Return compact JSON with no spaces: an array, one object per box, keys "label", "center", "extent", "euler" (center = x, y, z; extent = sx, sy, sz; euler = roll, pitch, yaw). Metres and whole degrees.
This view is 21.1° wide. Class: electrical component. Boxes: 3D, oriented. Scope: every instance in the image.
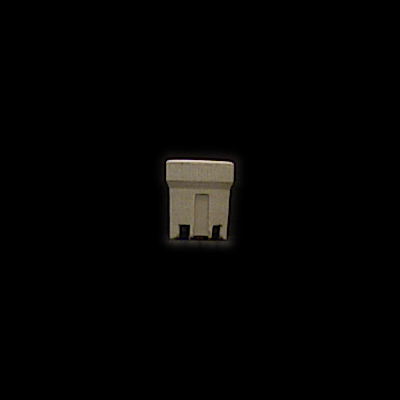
[{"label":"electrical component","center":[0.000,0.000,0.646],"extent":[0.040,0.046,0.040],"euler":[1,1,0]}]
